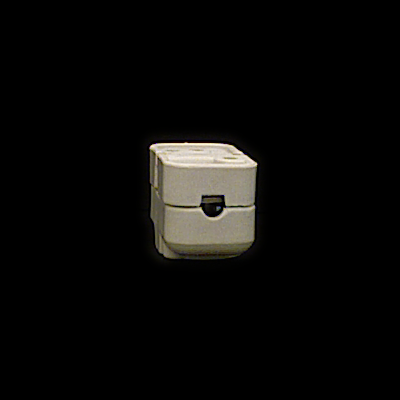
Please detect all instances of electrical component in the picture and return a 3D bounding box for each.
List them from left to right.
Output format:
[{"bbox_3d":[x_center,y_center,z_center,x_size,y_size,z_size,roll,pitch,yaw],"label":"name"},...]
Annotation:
[{"bbox_3d":[0.000,0.000,0.649,0.054,0.060,0.094,-1,12,-9],"label":"electrical component"}]
